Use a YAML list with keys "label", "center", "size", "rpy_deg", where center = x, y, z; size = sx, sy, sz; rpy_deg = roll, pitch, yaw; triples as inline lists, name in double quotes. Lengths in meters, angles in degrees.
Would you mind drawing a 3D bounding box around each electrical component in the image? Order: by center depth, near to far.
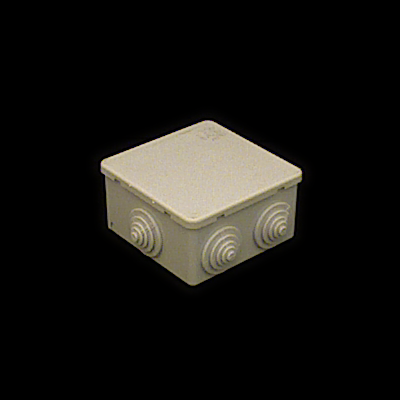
- label: "electrical component"
  center: [0.000, 0.000, 0.646]
  size: [0.100, 0.049, 0.098]
  rpy_deg: [-24, 40, -34]
